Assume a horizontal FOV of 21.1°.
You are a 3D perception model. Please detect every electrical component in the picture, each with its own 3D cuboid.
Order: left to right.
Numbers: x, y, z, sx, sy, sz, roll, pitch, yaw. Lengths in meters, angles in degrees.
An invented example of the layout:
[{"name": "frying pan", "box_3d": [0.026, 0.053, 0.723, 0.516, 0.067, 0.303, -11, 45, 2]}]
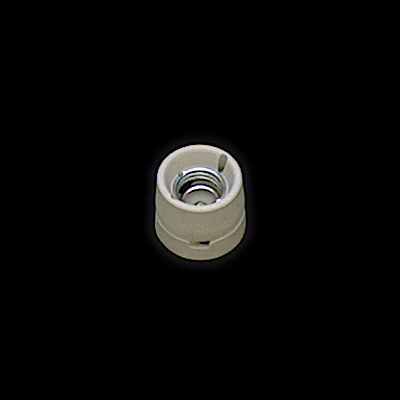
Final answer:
[{"name": "electrical component", "box_3d": [0.000, 0.000, 0.633, 0.055, 0.055, 0.047, 0, -37, 1]}]
